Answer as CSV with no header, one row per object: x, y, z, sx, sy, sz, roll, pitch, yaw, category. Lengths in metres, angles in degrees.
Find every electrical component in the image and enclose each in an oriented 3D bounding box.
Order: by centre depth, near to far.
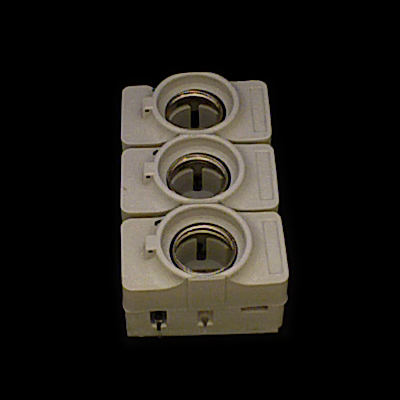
0.000,0.000,0.633,0.089,0.148,0.062,-2,-38,-2,electrical component
